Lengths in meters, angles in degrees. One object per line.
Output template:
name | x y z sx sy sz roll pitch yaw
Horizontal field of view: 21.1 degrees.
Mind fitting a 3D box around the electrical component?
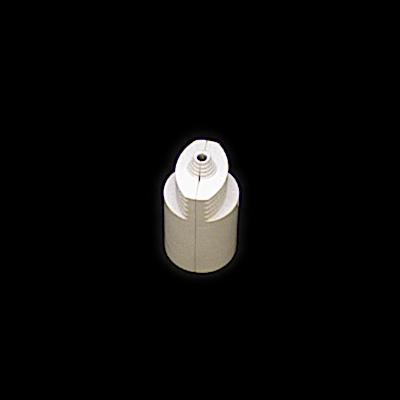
electrical component | 0.000 0.000 0.619 0.043 0.043 0.081 0 -38 0
